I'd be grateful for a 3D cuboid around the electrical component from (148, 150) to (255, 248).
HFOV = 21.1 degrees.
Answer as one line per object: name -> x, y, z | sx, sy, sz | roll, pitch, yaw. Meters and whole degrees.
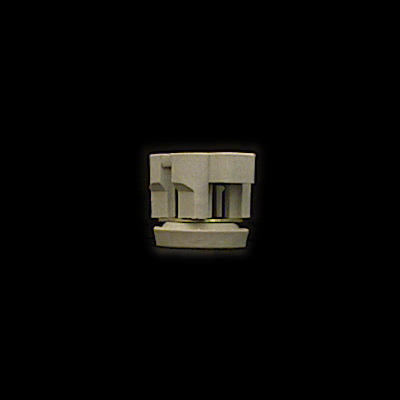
electrical component -> 0.000, 0.000, 0.656 | 0.058, 0.057, 0.077 | -1, 1, -40
